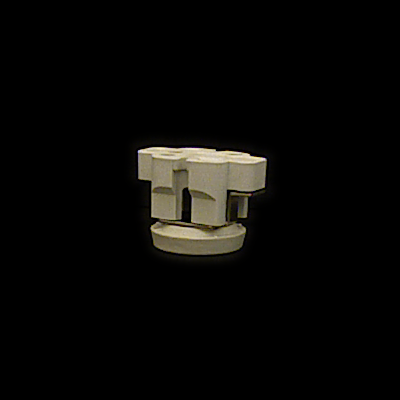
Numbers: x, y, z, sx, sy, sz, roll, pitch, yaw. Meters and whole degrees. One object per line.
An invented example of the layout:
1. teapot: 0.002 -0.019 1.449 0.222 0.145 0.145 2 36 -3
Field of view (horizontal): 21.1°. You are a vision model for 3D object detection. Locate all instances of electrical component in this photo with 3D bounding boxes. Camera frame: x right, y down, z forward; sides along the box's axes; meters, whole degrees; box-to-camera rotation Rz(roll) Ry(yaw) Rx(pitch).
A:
1. electrical component: 0.000 0.000 0.652 0.078 0.057 0.058 8 13 25
